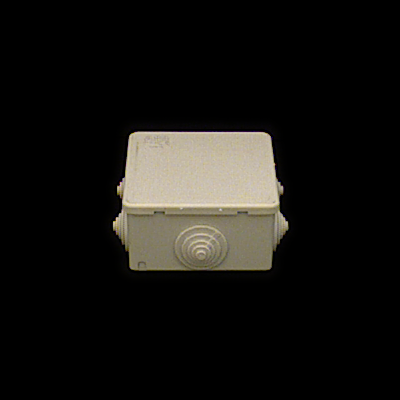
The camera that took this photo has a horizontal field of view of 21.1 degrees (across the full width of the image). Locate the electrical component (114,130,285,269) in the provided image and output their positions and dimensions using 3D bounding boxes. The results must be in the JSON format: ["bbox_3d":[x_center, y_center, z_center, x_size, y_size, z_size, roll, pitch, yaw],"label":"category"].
[{"bbox_3d":[0.000,0.000,0.645,0.100,0.049,0.098,0,32,-1],"label":"electrical component"}]
